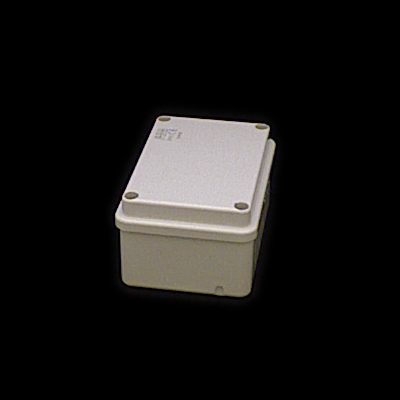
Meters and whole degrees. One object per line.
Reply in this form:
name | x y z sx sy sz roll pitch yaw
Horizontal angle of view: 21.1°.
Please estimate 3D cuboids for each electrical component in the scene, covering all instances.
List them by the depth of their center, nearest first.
electrical component | 0.000 0.000 0.635 0.078 0.058 0.112 5 32 7
